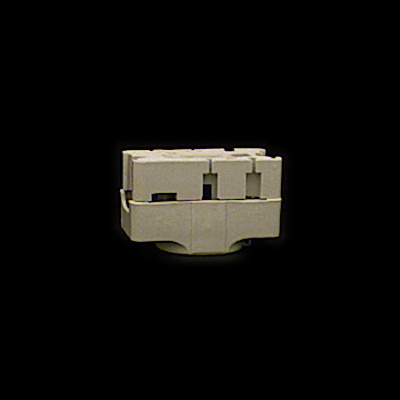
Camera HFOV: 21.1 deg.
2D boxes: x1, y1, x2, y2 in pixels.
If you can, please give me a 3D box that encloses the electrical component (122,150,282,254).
[{"bbox_3d":[0.000,0.000,0.652,0.090,0.056,0.049,-1,11,-14],"label":"electrical component"}]
